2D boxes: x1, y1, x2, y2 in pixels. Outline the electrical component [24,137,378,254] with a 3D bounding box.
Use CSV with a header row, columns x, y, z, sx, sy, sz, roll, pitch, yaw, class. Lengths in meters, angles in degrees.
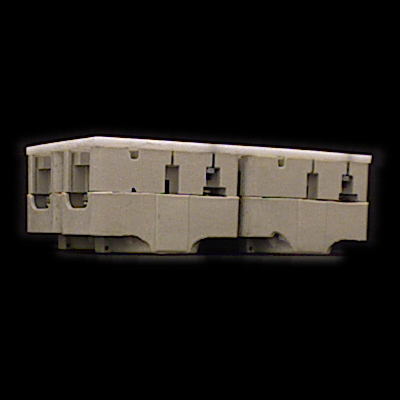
x,y,z,sx,sy,sz,roll,pitch,yaw,class
0.000,0.000,0.649,0.187,0.060,0.105,2,0,-30,electrical component
